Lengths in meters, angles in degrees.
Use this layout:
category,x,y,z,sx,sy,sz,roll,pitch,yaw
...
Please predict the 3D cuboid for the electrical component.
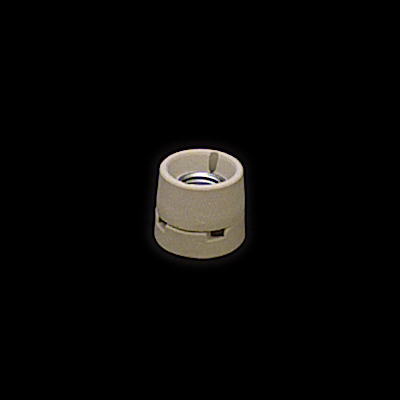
category,x,y,z,sx,sy,sz,roll,pitch,yaw
electrical component,0.000,0.000,0.639,0.055,0.047,0.055,1,31,-1
